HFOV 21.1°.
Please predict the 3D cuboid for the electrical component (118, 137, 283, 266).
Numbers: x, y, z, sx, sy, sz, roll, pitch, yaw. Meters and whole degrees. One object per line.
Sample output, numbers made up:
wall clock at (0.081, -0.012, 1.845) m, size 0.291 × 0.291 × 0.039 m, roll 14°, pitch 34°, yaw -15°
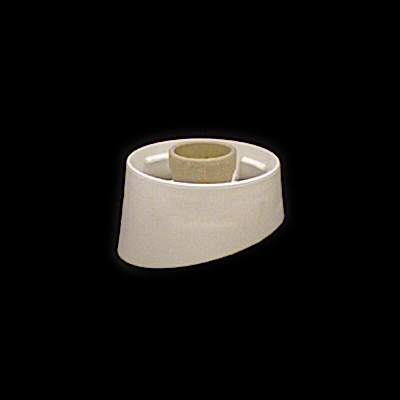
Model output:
electrical component at (0.000, 0.000, 0.639) m, size 0.099 × 0.065 × 0.097 m, roll 1°, pitch 21°, yaw 0°
